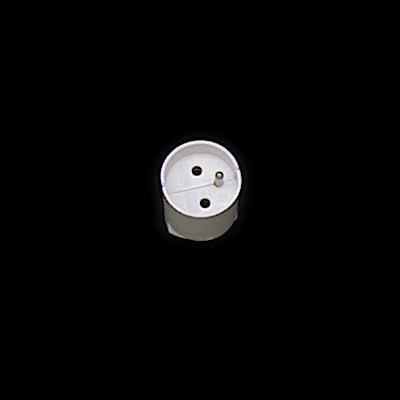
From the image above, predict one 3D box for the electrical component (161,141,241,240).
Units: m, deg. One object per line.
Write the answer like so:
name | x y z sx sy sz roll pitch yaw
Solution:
electrical component | 0.000 0.000 0.616 0.043 0.043 0.080 0 -16 -1
